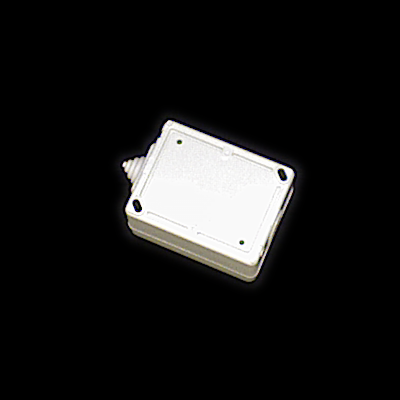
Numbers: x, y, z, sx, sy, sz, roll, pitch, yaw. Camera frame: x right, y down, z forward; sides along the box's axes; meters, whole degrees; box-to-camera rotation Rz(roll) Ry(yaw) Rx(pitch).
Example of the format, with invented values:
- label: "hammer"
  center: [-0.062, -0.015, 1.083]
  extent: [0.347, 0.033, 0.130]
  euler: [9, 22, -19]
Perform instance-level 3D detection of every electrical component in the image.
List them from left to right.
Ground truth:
- label: "electrical component"
  center: [0.000, 0.000, 0.626]
  extent: [0.096, 0.062, 0.060]
  euler: [22, -15, 6]
